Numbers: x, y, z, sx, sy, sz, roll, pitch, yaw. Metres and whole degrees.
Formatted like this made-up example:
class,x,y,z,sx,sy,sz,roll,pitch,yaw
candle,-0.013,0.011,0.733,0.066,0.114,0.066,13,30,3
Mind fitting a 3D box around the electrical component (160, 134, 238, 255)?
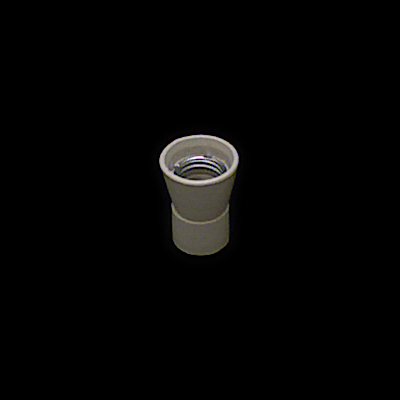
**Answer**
class,x,y,z,sx,sy,sz,roll,pitch,yaw
electrical component,0.000,0.000,0.629,0.044,0.066,0.044,0,42,1
